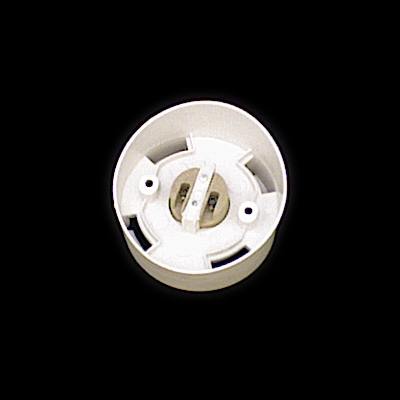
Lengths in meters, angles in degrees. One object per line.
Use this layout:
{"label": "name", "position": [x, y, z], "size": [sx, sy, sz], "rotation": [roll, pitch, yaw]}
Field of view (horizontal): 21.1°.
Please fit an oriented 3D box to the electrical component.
{"label": "electrical component", "position": [0.000, 0.000, 0.625], "size": [0.099, 0.099, 0.064], "rotation": [0, -28, 0]}
